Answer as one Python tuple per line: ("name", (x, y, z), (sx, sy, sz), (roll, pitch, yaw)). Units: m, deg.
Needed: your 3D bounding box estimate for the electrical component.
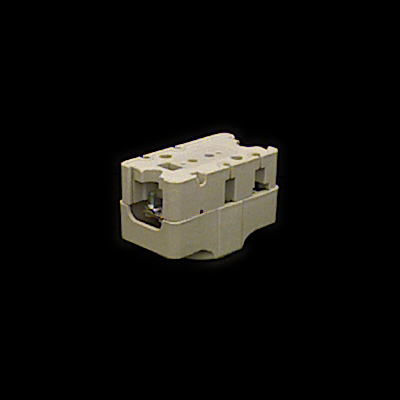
("electrical component", (0.000, 0.000, 0.646), (0.049, 0.056, 0.090), (22, 30, 40))
